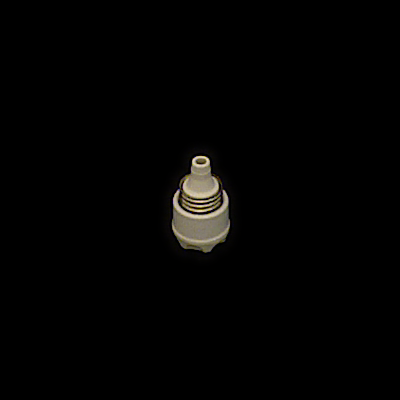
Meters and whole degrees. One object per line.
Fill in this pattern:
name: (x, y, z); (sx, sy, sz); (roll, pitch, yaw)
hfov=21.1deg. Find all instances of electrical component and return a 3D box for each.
electrical component: (0.000, 0.000, 0.642); (0.035, 0.062, 0.035); (1, 41, 0)
